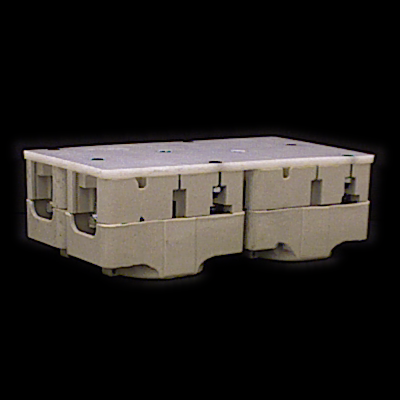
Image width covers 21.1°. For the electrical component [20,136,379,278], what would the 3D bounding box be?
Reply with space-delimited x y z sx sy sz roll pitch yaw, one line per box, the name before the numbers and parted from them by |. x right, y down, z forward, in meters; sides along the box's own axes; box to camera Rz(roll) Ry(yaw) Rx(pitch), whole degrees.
electrical component | 0.000 0.000 0.644 0.186 0.061 0.104 -5 12 -33
